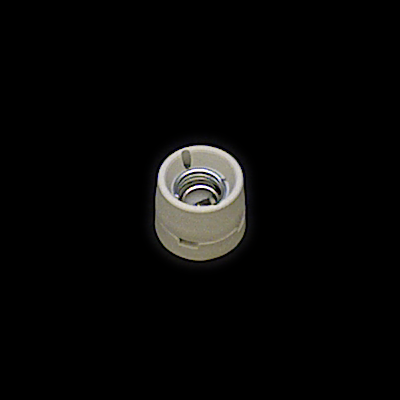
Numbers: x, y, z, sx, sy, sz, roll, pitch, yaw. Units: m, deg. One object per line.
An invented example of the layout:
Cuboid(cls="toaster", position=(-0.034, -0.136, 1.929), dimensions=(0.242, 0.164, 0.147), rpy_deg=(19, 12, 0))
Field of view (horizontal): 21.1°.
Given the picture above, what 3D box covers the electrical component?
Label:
Cuboid(cls="electrical component", position=(0.000, 0.000, 0.633), dimensions=(0.055, 0.055, 0.047), rpy_deg=(0, -36, -1))
